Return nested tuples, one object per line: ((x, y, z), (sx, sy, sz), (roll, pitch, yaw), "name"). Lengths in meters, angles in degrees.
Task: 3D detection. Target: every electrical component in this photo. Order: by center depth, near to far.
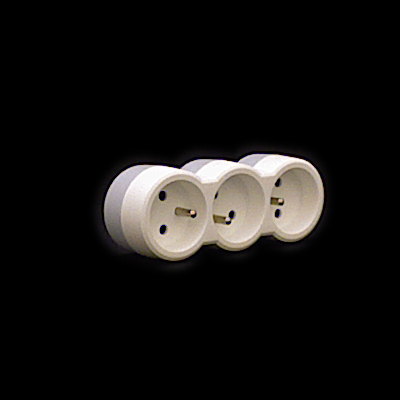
((0.000, 0.000, 0.643), (0.138, 0.052, 0.073), (-8, 12, -38), "electrical component")
